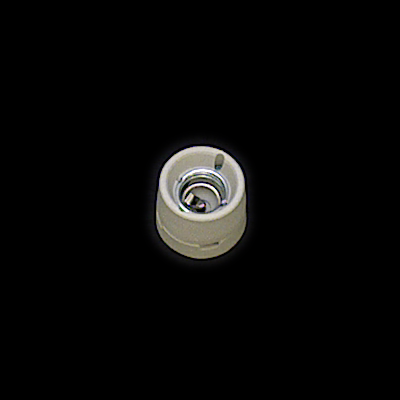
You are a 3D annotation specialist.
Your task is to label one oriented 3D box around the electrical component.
[{"bbox_3d":[0.000,0.000,0.633,0.055,0.055,0.047,0,-28,-1],"label":"electrical component"}]
